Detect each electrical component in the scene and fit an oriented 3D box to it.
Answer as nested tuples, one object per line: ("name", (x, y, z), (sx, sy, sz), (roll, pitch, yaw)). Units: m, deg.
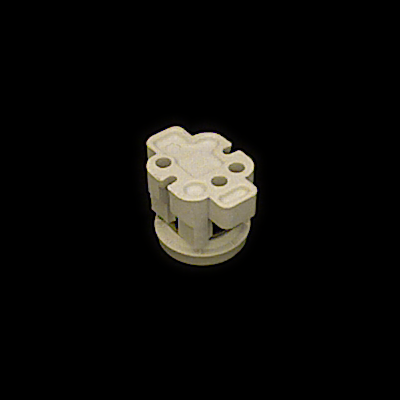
("electrical component", (0.000, 0.000, 0.639), (0.058, 0.057, 0.077), (-29, 49, -27))
